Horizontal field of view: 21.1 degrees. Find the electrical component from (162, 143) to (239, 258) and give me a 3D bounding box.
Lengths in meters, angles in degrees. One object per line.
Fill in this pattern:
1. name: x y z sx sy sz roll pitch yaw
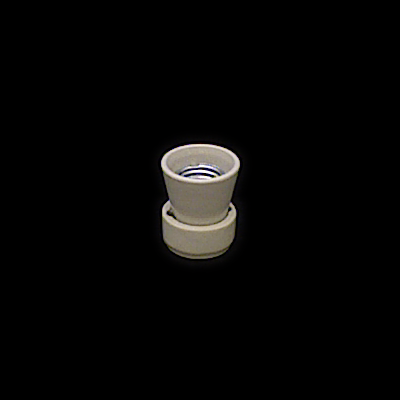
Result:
1. electrical component: 0.000 0.000 0.635 0.045 0.056 0.044 1 32 0
